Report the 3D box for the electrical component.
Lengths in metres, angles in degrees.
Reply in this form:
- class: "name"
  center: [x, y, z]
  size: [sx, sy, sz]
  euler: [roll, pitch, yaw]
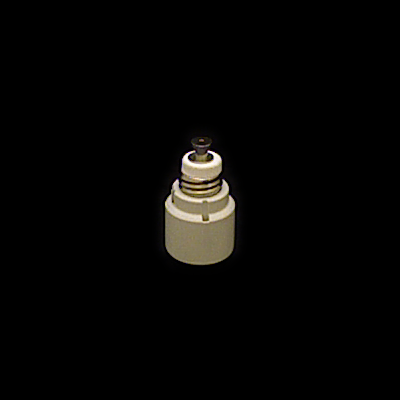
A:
- class: "electrical component"
  center: [0.000, 0.000, 0.631]
  size: [0.040, 0.079, 0.039]
  euler: [1, 32, -1]
